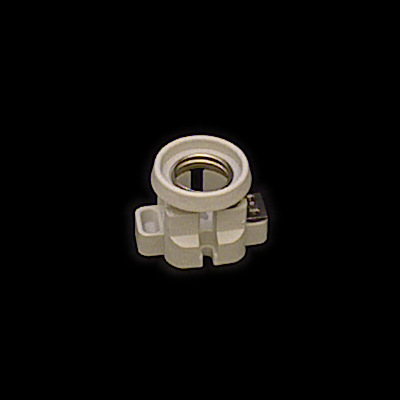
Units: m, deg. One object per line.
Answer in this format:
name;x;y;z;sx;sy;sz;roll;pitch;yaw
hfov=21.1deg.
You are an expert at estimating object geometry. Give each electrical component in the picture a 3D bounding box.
electrical component;0.000;0.000;0.633;0.078;0.057;0.057;-6;43;-7
